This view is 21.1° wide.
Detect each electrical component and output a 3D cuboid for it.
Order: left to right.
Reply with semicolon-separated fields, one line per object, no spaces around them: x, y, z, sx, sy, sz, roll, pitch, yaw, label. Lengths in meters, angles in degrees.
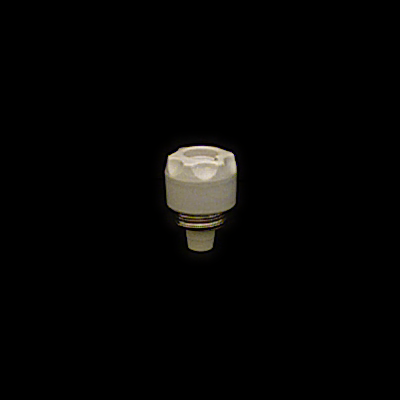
0.000;0.000;0.646;0.043;0.063;0.043;0;22;0;electrical component
